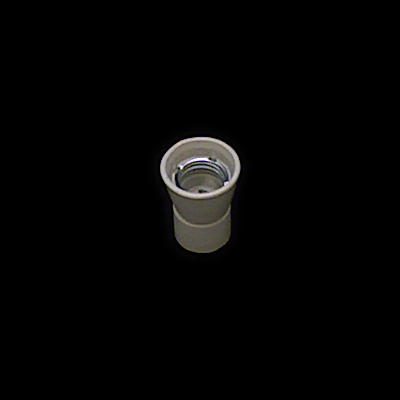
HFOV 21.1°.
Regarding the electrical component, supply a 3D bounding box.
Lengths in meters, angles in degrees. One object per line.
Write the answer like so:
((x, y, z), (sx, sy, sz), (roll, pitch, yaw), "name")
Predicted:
((0.000, 0.000, 0.626), (0.044, 0.044, 0.065), (0, -38, 1), "electrical component")
